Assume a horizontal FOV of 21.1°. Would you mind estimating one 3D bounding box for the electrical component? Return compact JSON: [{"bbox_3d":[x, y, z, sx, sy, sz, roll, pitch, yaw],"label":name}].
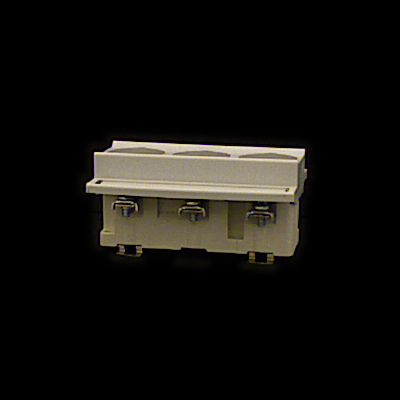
[{"bbox_3d":[0.000,0.000,0.655,0.121,0.063,0.078,3,13,10],"label":"electrical component"}]
